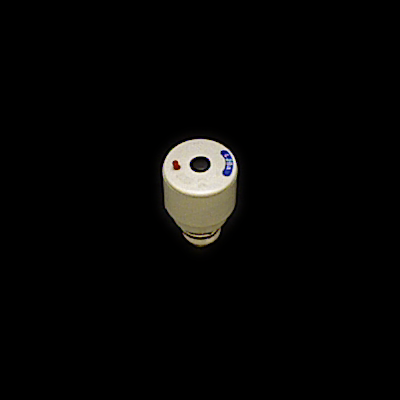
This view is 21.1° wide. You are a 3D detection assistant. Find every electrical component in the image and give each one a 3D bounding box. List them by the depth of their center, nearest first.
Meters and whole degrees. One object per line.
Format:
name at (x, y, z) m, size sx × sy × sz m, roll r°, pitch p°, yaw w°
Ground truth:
electrical component at (0.000, 0.000, 0.620) m, size 0.040 × 0.040 × 0.079 m, roll 0°, pitch -38°, yaw 0°
